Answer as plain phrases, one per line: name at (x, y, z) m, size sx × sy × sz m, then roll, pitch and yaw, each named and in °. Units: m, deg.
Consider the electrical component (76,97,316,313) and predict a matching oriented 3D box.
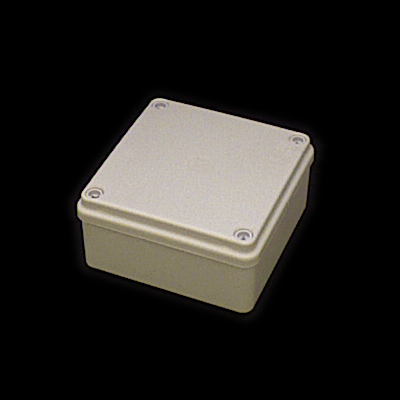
electrical component at (0.000, 0.000, 0.632) m, size 0.108 × 0.056 × 0.108 m, roll 16°, pitch 44°, yaw 16°
